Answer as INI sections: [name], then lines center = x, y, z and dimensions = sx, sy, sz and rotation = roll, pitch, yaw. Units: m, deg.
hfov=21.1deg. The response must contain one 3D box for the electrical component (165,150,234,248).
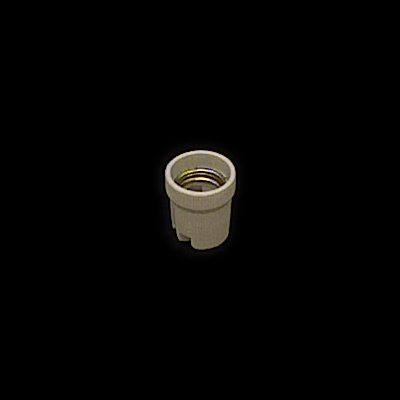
[electrical component]
center = 0.000, 0.000, 0.632
dimensions = 0.040, 0.047, 0.039
rotation = 1, 42, 0
